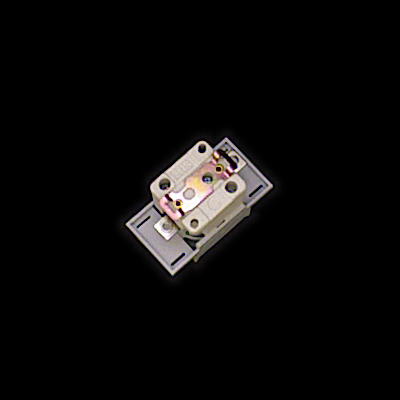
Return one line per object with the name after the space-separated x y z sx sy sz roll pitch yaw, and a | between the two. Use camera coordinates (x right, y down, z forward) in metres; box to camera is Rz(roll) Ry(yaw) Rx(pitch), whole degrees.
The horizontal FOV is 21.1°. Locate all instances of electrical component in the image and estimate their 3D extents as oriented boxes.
0.000 0.000 0.625 0.081 0.042 0.063 -42 -12 -12 | electrical component
